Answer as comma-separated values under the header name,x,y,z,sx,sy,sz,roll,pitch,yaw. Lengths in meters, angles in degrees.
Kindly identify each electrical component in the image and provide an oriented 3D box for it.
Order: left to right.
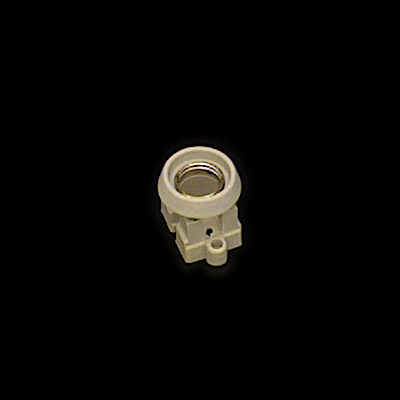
name,x,y,z,sx,sy,sz,roll,pitch,yaw
electrical component,0.000,0.000,0.638,0.049,0.066,0.055,-18,-35,-16
